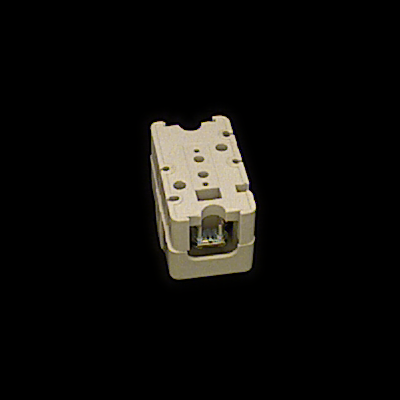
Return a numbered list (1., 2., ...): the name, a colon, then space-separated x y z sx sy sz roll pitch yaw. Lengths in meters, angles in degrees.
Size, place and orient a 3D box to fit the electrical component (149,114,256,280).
1. electrical component: 0.000 0.000 0.639 0.050 0.056 0.088 -6 44 -8
